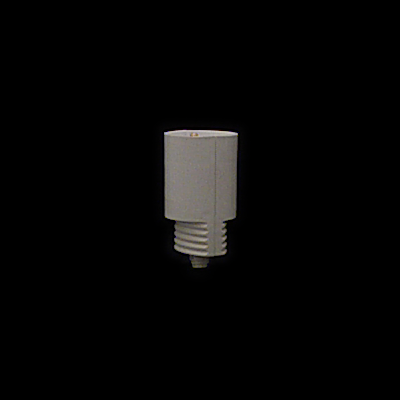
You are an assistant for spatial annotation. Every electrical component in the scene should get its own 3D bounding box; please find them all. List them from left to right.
[{"bbox_3d":[0.000,0.000,0.642,0.043,0.081,0.043,1,10,0],"label":"electrical component"}]
